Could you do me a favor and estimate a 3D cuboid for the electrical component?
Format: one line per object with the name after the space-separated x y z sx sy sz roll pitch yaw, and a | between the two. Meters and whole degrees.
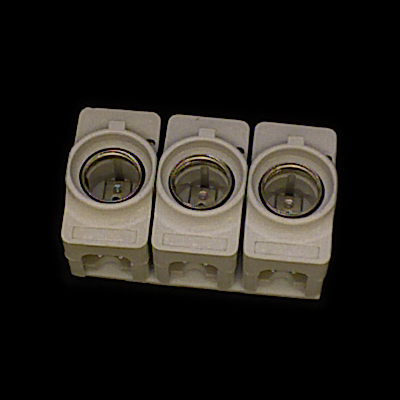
0.000 0.000 0.632 0.150 0.089 0.062 5 -28 2 | electrical component
